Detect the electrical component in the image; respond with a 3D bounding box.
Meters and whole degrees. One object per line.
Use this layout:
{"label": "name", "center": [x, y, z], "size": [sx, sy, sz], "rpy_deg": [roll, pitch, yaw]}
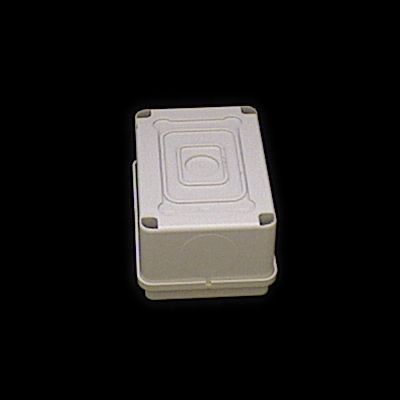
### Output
{"label": "electrical component", "center": [0.000, 0.000, 0.631], "size": [0.078, 0.057, 0.112], "rpy_deg": [-2, 42, -3]}
